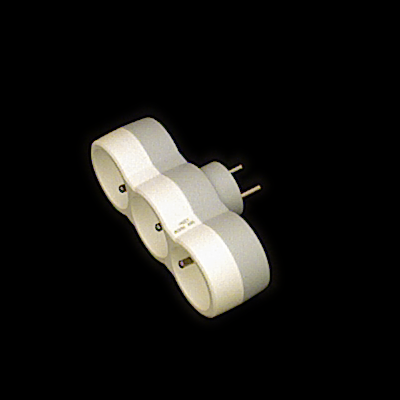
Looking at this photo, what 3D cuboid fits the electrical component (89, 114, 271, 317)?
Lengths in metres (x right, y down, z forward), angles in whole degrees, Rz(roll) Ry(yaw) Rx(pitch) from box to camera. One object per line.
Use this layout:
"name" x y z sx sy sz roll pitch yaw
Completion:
"electrical component" 0.000 0.000 0.639 0.074 0.137 0.052 -27 -32 -21
